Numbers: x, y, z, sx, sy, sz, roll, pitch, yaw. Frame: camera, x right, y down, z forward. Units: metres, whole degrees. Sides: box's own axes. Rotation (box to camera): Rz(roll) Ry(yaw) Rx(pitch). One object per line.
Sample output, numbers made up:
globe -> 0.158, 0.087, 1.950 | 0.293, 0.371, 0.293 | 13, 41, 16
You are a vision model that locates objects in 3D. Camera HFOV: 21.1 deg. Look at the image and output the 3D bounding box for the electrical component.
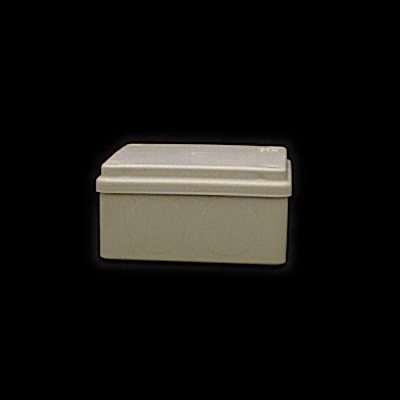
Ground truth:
electrical component -> 0.000, 0.000, 0.643 | 0.109, 0.056, 0.108 | 1, 10, 4
